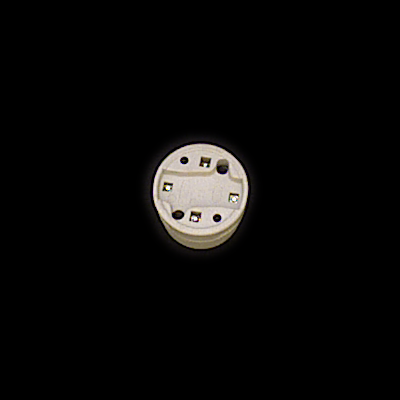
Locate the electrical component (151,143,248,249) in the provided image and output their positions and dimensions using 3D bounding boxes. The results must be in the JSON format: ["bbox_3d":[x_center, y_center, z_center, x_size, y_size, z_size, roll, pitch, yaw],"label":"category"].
[{"bbox_3d":[0.000,0.000,0.634,0.055,0.056,0.047,0,-17,0],"label":"electrical component"}]
